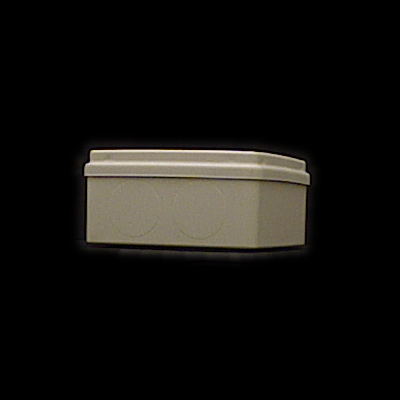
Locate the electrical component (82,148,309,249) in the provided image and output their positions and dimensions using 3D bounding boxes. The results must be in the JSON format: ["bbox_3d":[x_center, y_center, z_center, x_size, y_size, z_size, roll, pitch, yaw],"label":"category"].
[{"bbox_3d":[0.000,0.000,0.650,0.108,0.056,0.109,2,0,21],"label":"electrical component"}]
